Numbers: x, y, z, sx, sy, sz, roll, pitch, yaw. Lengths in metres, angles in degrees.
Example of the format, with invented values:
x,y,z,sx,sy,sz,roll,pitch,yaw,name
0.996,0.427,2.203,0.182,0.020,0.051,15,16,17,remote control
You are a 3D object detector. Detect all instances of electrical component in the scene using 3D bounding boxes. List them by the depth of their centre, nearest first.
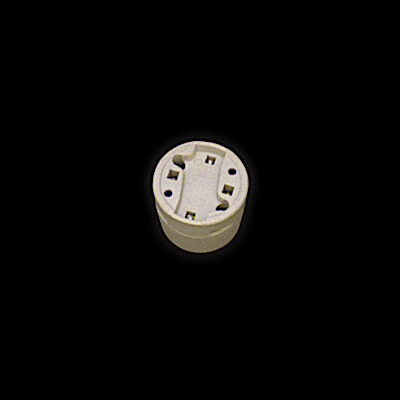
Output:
x,y,z,sx,sy,sz,roll,pitch,yaw,name
0.000,0.000,0.634,0.055,0.056,0.047,0,-27,0,electrical component
